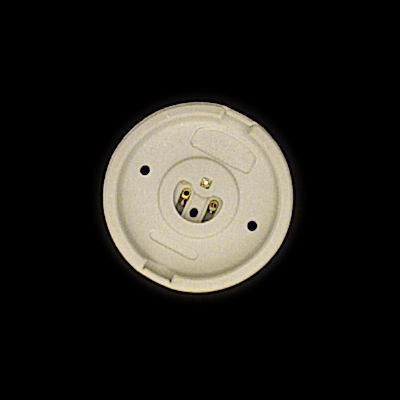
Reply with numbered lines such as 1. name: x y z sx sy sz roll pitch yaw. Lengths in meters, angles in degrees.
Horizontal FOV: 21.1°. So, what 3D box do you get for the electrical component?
1. electrical component: 0.000 0.000 0.635 0.108 0.108 0.060 0 -6 0
